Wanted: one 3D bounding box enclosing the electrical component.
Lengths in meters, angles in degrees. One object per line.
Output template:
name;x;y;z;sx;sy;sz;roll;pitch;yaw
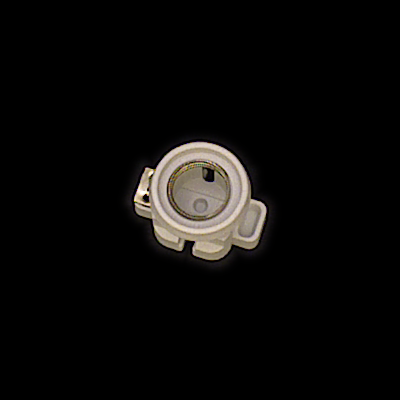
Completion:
electrical component;0.000;0.000;0.628;0.078;0.058;0.056;17;-16;5
